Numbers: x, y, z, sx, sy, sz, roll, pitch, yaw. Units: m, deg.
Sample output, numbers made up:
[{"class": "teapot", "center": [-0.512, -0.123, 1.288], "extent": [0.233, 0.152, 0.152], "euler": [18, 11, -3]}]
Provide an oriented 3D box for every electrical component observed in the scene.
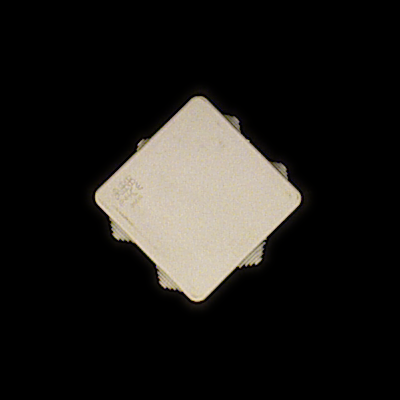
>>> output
[{"class": "electrical component", "center": [0.000, 0.000, 0.642], "extent": [0.100, 0.100, 0.048], "euler": [-44, -4, -4]}]
